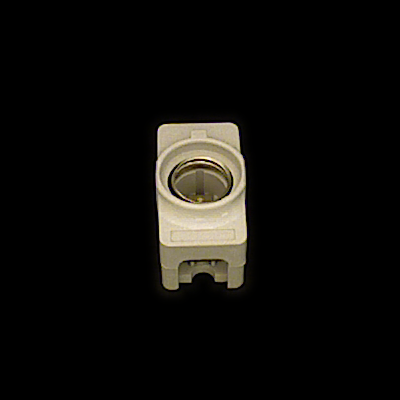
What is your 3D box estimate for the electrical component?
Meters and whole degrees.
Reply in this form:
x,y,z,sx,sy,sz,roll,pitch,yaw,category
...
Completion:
x,y,z,sx,sy,sz,roll,pitch,yaw,category
0.000,0.000,0.637,0.050,0.089,0.056,-2,-37,-2,electrical component
